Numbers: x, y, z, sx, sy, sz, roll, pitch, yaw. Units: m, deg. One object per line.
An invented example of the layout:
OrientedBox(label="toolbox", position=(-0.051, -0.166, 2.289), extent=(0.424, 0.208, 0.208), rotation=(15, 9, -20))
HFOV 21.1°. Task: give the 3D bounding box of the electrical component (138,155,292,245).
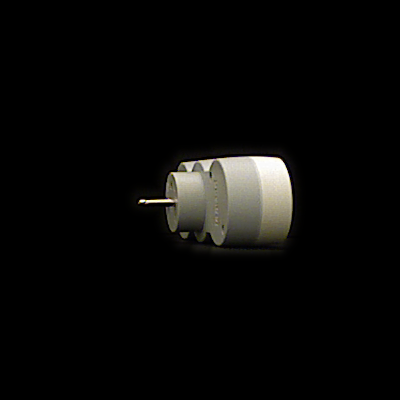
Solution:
OrientedBox(label="electrical component", position=(0.000, 0.000, 0.657), extent=(0.074, 0.052, 0.137), rotation=(-1, 1, -14))
